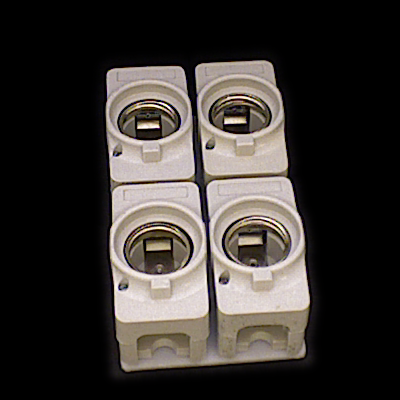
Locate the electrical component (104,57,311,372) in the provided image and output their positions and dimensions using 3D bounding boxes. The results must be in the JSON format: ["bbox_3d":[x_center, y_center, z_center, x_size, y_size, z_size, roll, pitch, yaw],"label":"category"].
[{"bbox_3d":[0.000,0.000,0.627,0.105,0.185,0.060,-3,-37,-3],"label":"electrical component"}]
